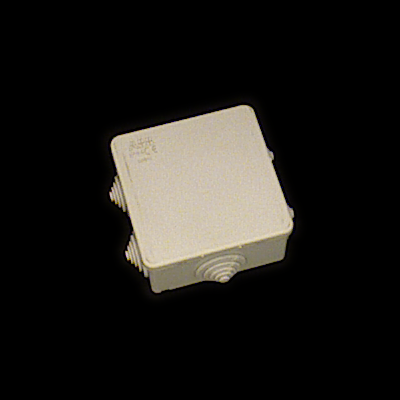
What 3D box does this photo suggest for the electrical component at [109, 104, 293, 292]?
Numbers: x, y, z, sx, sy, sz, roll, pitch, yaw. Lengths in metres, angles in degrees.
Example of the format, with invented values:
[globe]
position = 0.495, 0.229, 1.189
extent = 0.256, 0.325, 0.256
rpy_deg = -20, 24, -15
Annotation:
[electrical component]
position = 0.000, 0.000, 0.640
extent = 0.100, 0.099, 0.048
rpy_deg = -14, -26, -7
